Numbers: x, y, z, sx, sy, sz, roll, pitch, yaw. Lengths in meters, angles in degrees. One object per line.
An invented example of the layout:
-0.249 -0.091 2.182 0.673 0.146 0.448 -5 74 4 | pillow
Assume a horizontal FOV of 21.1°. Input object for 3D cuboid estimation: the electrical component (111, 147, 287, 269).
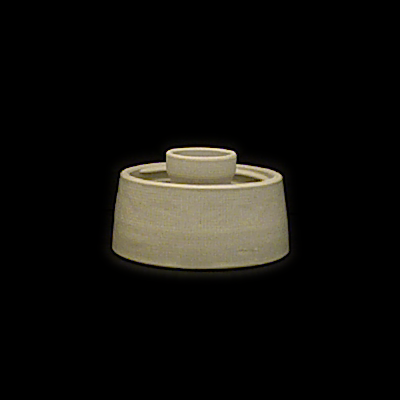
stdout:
0.000 0.000 0.652 0.108 0.061 0.107 1 11 0 | electrical component
